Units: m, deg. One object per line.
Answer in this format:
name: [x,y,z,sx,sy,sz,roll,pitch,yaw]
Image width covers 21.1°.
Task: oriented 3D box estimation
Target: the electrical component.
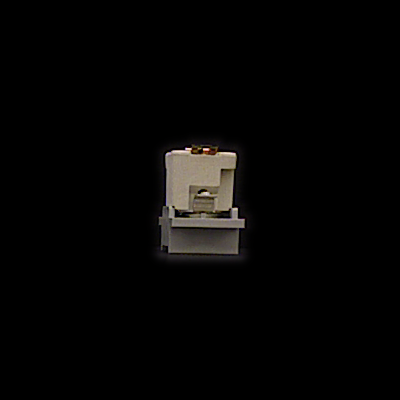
electrical component: [0.000,0.000,0.649,0.042,0.064,0.081,1,0,-8]
